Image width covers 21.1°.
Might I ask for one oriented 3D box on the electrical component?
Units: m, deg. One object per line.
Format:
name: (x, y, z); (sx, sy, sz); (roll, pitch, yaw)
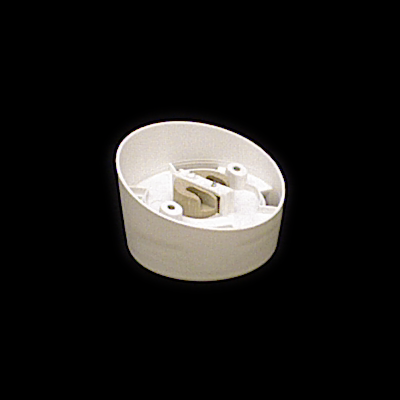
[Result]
electrical component: (0.000, 0.000, 0.633); (0.099, 0.065, 0.097); (0, 31, 0)
